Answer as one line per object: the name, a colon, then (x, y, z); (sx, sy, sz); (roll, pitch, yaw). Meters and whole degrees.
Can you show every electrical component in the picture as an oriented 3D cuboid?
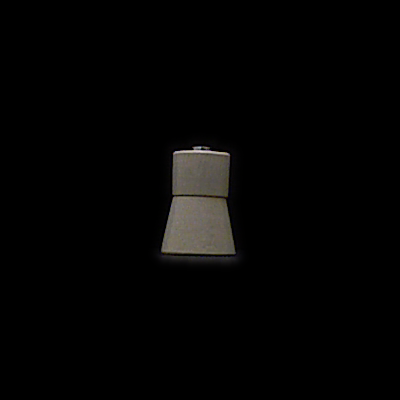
electrical component: (0.000, 0.000, 0.649); (0.044, 0.065, 0.044); (2, 1, 0)
